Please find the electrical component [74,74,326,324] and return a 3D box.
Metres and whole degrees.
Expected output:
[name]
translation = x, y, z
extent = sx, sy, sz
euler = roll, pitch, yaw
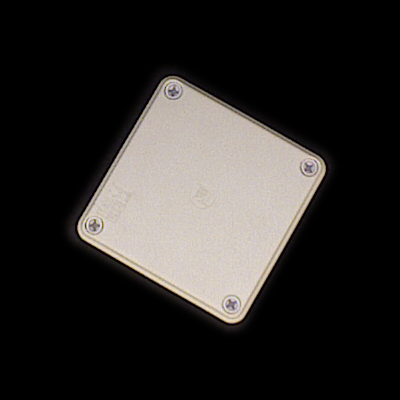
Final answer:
[electrical component]
translation = 0.000, 0.000, 0.631
extent = 0.109, 0.109, 0.056
euler = 30, -6, 3
